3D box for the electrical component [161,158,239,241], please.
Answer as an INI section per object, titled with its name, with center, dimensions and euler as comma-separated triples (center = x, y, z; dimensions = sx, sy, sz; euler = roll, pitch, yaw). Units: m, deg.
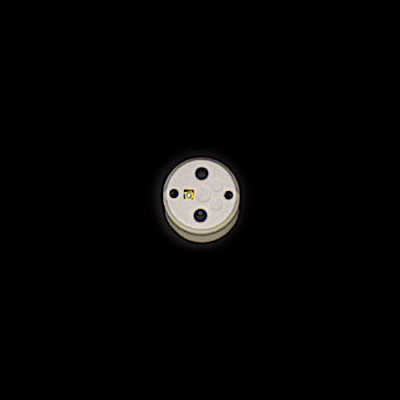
[electrical component]
center = 0.000, 0.000, 0.630
dimensions = 0.045, 0.045, 0.055
euler = 0, -7, 0
